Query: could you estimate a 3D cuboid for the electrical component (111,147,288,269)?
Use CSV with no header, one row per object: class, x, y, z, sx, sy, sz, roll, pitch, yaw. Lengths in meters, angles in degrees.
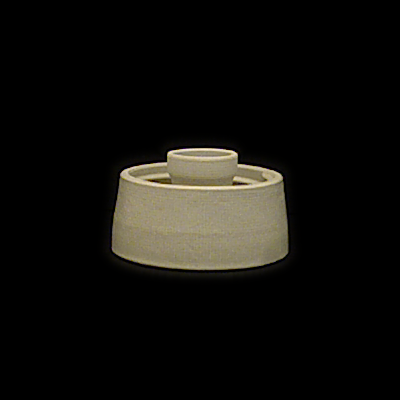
electrical component,0.000,0.000,0.651,0.108,0.061,0.107,1,11,0
